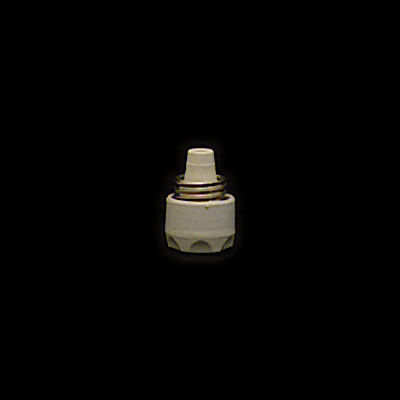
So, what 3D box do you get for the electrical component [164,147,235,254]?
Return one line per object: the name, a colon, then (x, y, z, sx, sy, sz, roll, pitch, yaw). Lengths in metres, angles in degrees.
electrical component: (0.000, 0.000, 0.650, 0.043, 0.062, 0.043, 0, 13, 0)
